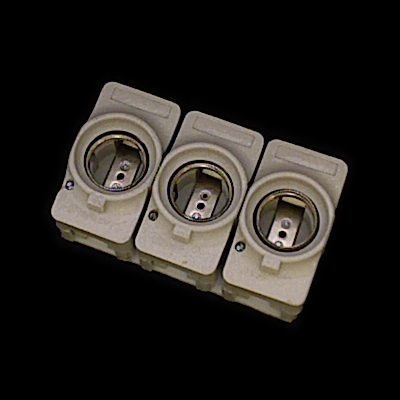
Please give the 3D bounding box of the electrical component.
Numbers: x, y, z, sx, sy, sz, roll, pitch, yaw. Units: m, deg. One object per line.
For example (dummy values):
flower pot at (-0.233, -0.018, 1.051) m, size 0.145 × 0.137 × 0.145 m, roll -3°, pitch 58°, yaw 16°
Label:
electrical component at (0.000, 0.000, 0.631) m, size 0.150 × 0.089 × 0.062 m, roll 19°, pitch -15°, yaw 6°
